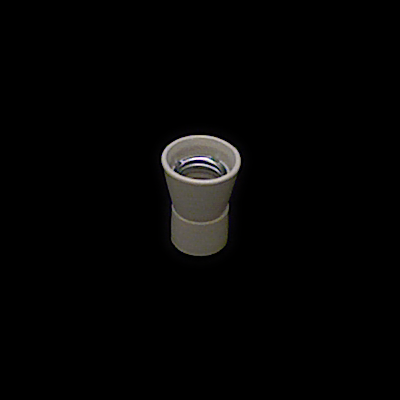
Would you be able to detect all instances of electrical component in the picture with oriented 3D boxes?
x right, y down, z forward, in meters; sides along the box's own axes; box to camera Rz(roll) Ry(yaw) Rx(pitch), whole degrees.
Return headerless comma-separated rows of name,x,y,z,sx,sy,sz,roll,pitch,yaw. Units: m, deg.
electrical component,0.000,0.000,0.631,0.044,0.066,0.044,1,41,-1
